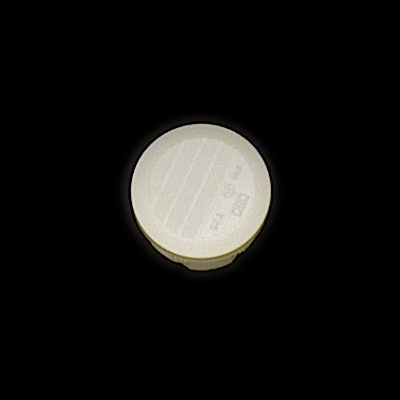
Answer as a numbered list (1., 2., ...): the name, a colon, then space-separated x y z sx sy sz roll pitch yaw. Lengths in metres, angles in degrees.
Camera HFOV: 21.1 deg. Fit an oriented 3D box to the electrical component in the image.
1. electrical component: 0.000 0.000 0.629 0.080 0.080 0.050 0 -17 0
